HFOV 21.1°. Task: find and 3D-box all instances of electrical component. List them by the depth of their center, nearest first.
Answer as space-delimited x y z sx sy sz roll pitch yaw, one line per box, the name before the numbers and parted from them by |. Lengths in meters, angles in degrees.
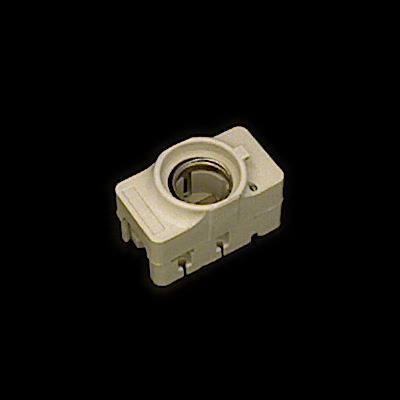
electrical component | 0.000 0.000 0.637 0.090 0.050 0.056 -27 -32 -19
